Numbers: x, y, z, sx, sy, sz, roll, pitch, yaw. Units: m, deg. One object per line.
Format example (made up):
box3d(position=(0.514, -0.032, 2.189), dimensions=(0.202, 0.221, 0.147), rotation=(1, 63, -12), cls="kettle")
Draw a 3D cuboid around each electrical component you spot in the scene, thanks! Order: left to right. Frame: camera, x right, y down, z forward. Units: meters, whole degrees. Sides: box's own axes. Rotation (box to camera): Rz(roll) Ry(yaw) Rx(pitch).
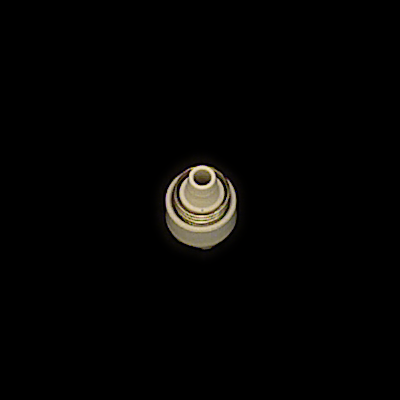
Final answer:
box3d(position=(0.000, 0.000, 0.633), dimensions=(0.043, 0.043, 0.062), rotation=(0, -26, -1), cls="electrical component")
